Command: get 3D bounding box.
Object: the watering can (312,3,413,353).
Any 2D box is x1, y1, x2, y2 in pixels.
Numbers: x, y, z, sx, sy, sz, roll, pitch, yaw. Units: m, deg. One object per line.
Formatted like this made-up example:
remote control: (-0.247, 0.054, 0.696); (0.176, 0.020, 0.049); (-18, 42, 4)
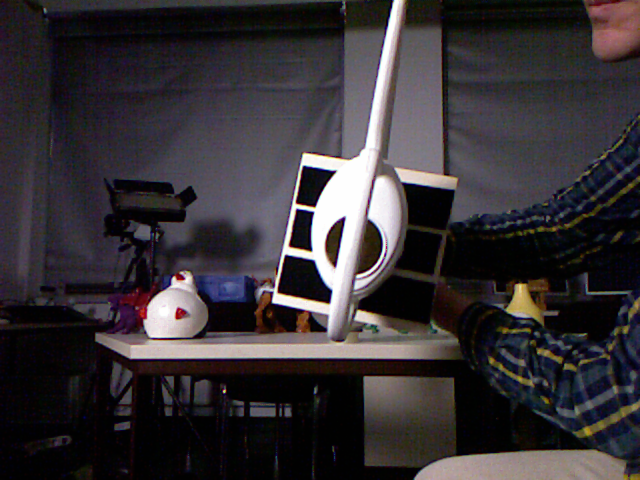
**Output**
watering can: (0.058, -0.054, 0.578); (0.105, 0.353, 0.226); (11, -4, 9)
